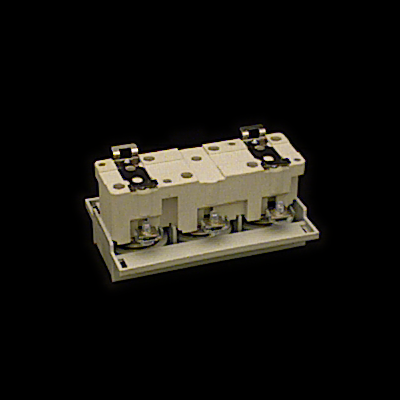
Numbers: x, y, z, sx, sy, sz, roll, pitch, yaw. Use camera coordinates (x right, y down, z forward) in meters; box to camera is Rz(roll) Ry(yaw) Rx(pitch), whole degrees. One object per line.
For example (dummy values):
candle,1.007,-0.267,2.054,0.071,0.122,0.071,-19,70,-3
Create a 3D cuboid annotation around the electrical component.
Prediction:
electrical component,0.000,0.000,0.639,0.122,0.064,0.077,-10,34,-17
